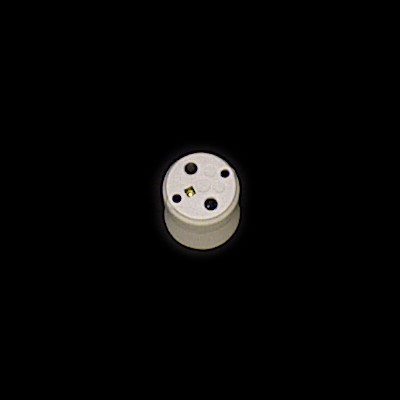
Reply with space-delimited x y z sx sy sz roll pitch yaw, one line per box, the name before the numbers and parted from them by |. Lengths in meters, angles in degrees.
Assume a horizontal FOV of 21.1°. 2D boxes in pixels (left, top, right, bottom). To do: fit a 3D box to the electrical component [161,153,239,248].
electrical component | 0.000 0.000 0.629 0.045 0.045 0.055 0 -17 0
